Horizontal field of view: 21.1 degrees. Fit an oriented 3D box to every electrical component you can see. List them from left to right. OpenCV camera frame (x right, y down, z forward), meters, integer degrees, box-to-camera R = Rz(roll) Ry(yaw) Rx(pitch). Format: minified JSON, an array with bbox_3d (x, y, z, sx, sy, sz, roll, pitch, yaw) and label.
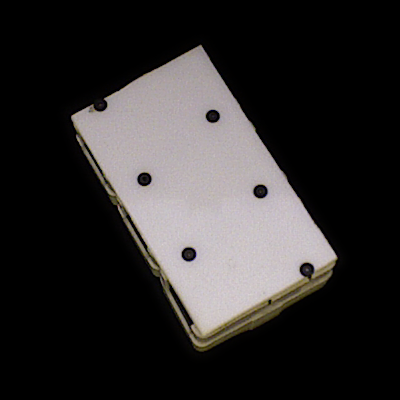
[{"bbox_3d":[0.000,0.000,0.630,0.089,0.150,0.062,-29,-14,-8],"label":"electrical component"}]
